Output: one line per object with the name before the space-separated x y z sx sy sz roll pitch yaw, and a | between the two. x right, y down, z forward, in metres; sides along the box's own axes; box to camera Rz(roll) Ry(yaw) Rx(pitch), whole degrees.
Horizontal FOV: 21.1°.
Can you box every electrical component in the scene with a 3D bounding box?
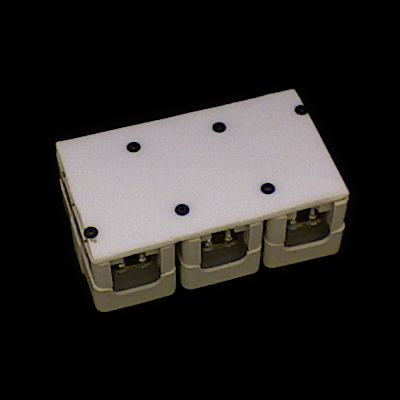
electrical component | 0.000 0.000 0.635 0.150 0.088 0.063 -14 -36 -11
